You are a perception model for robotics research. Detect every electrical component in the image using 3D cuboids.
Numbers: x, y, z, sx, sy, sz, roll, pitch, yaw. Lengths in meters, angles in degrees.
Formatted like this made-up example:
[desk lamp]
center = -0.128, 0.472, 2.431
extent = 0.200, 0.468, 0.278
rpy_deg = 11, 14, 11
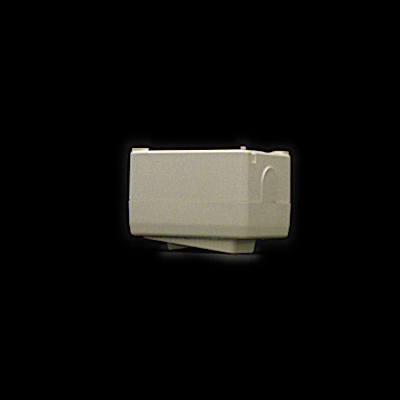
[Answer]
[electrical component]
center = 0.000, 0.000, 0.652
extent = 0.095, 0.061, 0.062
rpy_deg = 2, 1, 30
